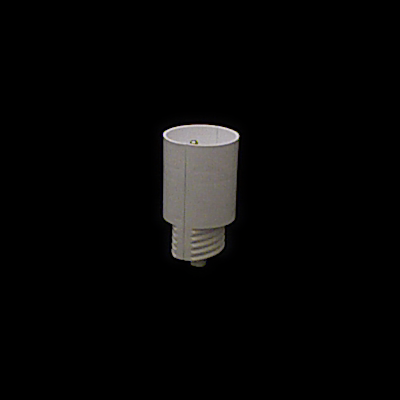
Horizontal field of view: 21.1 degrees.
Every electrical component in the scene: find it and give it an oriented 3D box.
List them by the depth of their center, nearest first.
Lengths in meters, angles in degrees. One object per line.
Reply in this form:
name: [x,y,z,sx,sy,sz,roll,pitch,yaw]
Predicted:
electrical component: [0.000,0.000,0.632,0.043,0.082,0.042,0,21,0]
